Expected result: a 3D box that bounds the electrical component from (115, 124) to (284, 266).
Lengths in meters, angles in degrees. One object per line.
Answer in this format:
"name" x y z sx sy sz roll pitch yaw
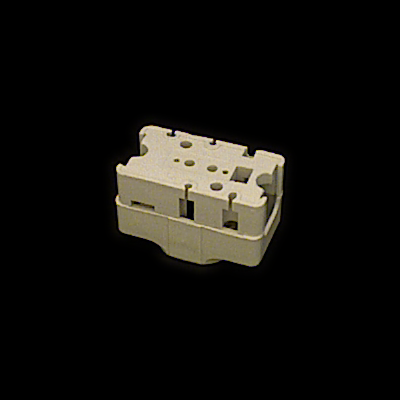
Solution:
"electrical component" 0.000 0.000 0.640 0.089 0.056 0.050 14 44 14
